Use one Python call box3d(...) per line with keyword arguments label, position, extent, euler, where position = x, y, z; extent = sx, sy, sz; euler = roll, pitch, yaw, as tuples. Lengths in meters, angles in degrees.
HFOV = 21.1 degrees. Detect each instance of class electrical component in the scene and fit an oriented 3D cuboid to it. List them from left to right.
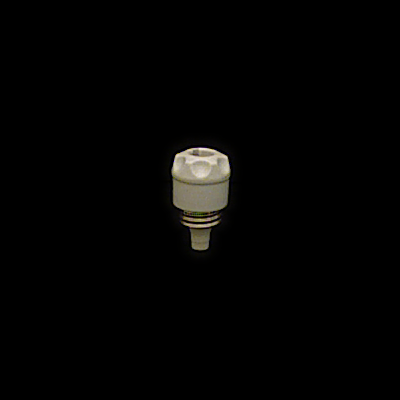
box3d(label="electrical component", position=(0.000, 0.000, 0.648), extent=(0.035, 0.062, 0.034), euler=(1, 22, 0))
